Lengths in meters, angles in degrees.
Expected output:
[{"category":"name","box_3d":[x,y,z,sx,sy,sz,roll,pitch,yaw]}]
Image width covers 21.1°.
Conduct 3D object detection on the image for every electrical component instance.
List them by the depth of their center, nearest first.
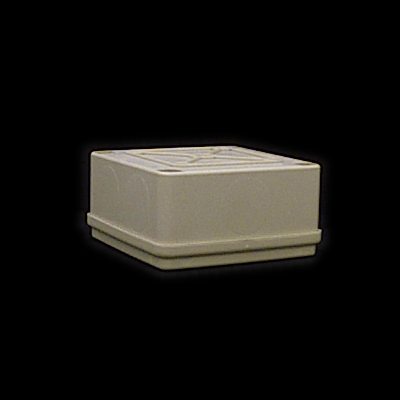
[{"category":"electrical component","box_3d":[0.000,0.000,0.647,0.109,0.056,0.107,-4,11,-29]}]
